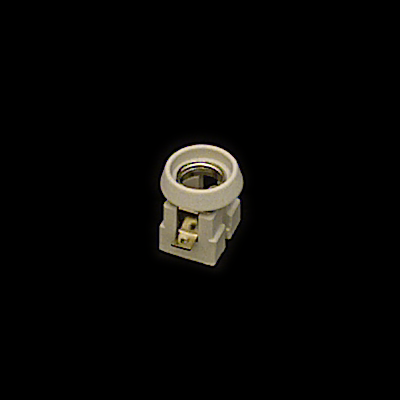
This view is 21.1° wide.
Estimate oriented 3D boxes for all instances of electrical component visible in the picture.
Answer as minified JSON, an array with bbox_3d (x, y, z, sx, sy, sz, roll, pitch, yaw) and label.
[{"bbox_3d":[0.000,0.000,0.639,0.048,0.056,0.066,13,44,16],"label":"electrical component"}]
